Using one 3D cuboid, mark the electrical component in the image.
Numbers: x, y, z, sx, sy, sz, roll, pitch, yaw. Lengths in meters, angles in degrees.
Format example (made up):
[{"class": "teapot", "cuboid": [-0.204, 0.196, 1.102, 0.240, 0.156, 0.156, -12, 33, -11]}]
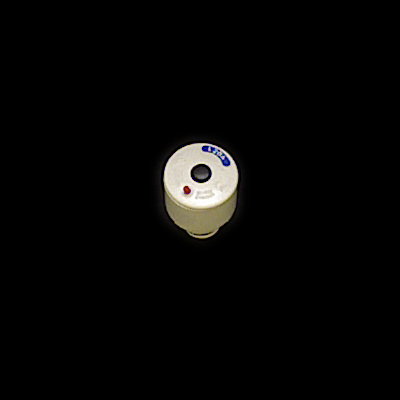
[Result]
[{"class": "electrical component", "cuboid": [0.000, 0.000, 0.617, 0.040, 0.040, 0.078, 0, -27, 0]}]
